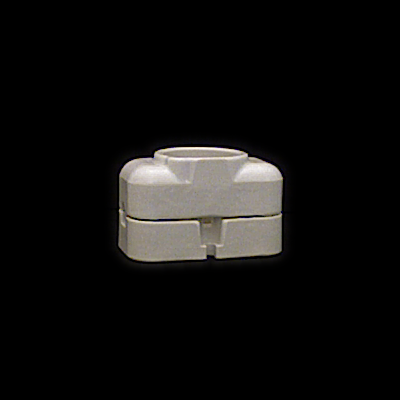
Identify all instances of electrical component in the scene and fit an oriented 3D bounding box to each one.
[{"bbox_3d":[0.000,0.000,0.649,0.095,0.060,0.053,-2,12,-16],"label":"electrical component"}]
